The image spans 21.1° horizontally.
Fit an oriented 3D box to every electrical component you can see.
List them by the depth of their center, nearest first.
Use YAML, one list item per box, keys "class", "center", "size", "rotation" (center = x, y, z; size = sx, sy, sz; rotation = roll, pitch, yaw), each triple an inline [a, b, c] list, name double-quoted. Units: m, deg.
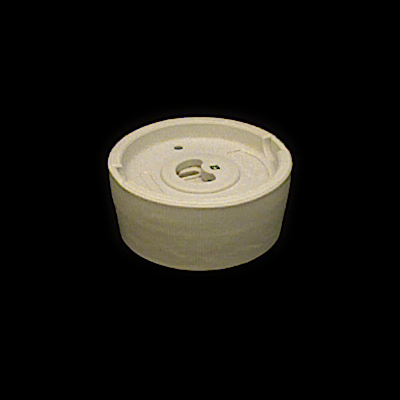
- class: "electrical component"
  center: [0.000, 0.000, 0.644]
  size: [0.108, 0.061, 0.106]
  rotation: [1, 32, 0]
